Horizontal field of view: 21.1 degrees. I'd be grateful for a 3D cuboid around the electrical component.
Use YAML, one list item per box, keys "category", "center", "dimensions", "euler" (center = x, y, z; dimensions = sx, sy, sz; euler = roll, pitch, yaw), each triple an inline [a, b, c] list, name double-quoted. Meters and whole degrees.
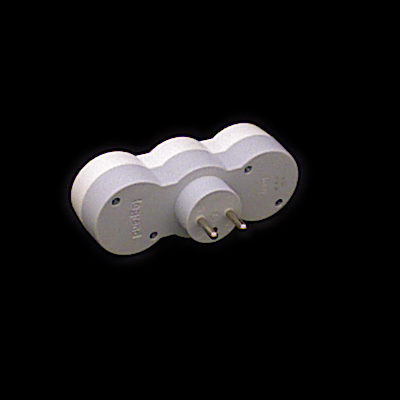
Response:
- category: "electrical component"
  center: [0.000, 0.000, 0.638]
  dimensions: [0.138, 0.053, 0.073]
  euler: [-14, 37, -25]
